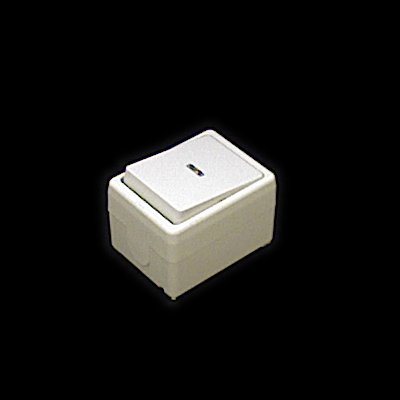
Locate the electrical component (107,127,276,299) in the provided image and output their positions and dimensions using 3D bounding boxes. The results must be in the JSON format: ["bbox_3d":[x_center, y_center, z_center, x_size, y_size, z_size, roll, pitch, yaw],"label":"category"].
[{"bbox_3d":[0.000,0.000,0.631,0.096,0.061,0.061,-29,50,-29],"label":"electrical component"}]
